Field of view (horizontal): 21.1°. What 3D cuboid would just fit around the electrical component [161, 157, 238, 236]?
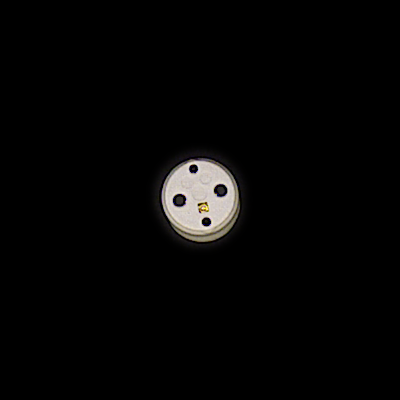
[{"bbox_3d":[0.000,0.000,0.629,0.045,0.045,0.055,0,-7,1],"label":"electrical component"}]
